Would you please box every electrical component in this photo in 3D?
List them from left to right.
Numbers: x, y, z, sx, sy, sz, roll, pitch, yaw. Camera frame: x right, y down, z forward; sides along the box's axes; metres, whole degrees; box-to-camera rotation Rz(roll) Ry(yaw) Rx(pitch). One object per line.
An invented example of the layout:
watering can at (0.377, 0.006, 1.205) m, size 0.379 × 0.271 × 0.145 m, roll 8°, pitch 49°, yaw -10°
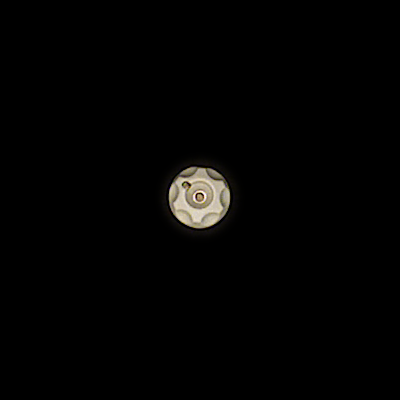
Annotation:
electrical component at (0.000, 0.000, 0.635) m, size 0.035 × 0.035 × 0.061 m, roll 0°, pitch -6°, yaw 1°
